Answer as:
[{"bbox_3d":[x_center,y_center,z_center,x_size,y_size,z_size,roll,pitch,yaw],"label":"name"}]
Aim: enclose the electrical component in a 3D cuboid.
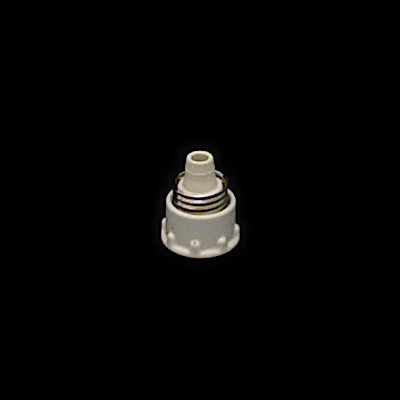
[{"bbox_3d":[0.000,0.000,0.639,0.048,0.063,0.047,0,33,1],"label":"electrical component"}]
